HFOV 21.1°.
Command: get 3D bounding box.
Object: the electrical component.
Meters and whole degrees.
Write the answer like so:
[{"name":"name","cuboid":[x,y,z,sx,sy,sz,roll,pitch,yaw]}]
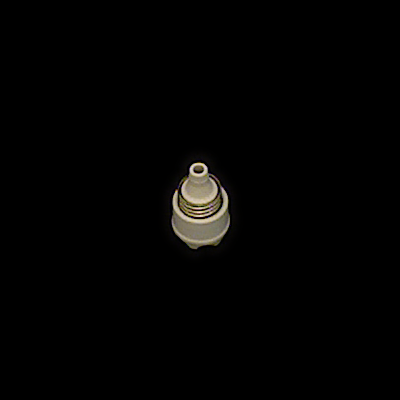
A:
[{"name":"electrical component","cuboid":[0.000,0.000,0.639,0.035,0.035,0.062,0,-38,2]}]
